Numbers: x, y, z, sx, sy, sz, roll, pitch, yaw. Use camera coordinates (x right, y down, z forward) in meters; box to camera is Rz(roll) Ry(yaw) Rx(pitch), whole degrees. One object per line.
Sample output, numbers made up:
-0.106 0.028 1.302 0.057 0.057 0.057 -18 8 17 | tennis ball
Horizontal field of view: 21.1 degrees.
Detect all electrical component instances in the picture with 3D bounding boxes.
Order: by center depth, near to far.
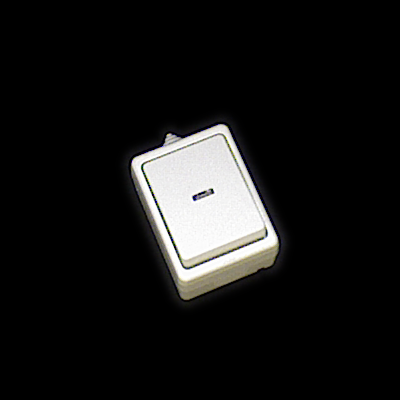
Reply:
0.000 0.000 0.626 0.062 0.096 0.060 -22 -16 -7 | electrical component
